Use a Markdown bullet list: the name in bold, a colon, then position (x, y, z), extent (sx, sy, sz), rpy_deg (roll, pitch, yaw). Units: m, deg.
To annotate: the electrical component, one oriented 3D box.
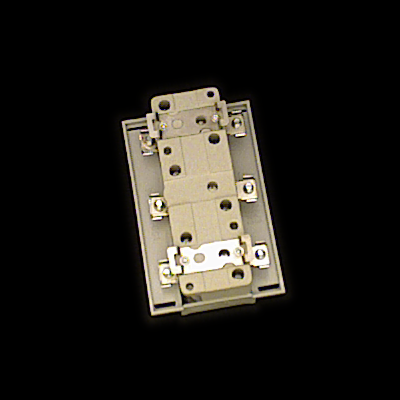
- **electrical component**: position (0.000, 0.000, 0.633), extent (0.079, 0.122, 0.062), rpy_deg (-10, -16, -2)
